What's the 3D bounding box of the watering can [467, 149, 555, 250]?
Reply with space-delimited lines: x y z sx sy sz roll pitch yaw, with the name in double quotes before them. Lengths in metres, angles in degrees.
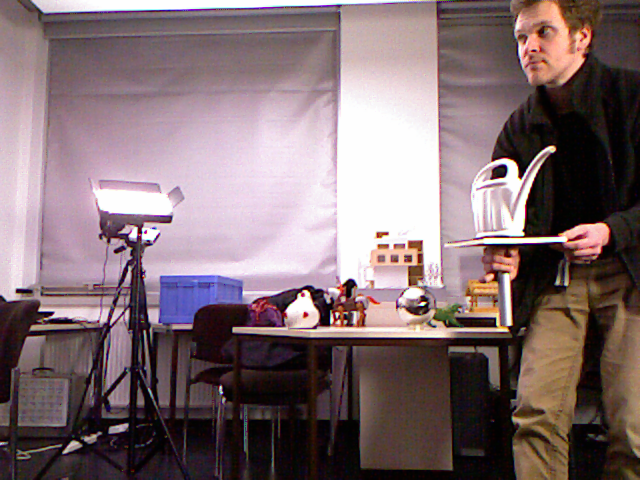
"watering can" 0.451 -0.089 1.239 0.104 0.226 0.347 -4 -4 -13
